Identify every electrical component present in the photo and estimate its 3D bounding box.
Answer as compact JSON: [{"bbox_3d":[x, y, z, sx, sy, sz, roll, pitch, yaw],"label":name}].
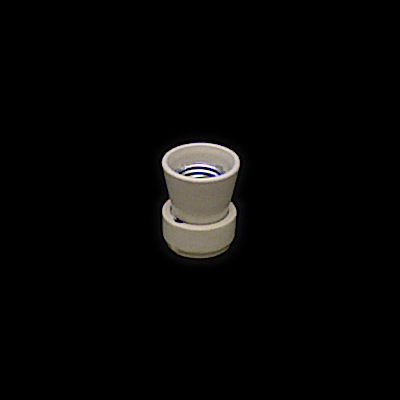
[{"bbox_3d":[0.000,0.000,0.636,0.045,0.056,0.044,1,32,0],"label":"electrical component"}]
